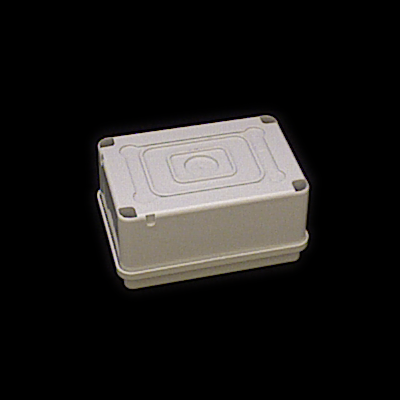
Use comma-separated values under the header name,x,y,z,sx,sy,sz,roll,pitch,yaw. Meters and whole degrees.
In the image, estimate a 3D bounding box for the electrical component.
name,x,y,z,sx,sy,sz,roll,pitch,yaw
electrical component,0.000,0.000,0.632,0.113,0.057,0.077,-9,42,-11
